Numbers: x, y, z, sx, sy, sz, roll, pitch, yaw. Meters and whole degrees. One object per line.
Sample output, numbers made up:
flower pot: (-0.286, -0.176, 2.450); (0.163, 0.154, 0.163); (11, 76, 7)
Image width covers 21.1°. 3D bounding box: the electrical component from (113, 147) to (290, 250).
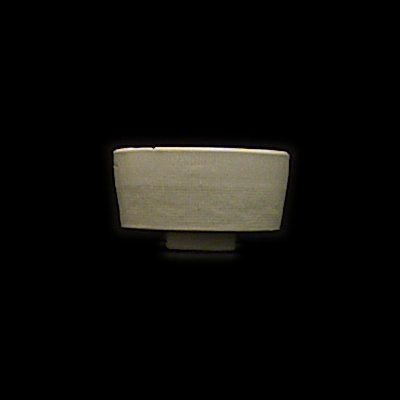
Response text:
electrical component: (0.000, 0.000, 0.660); (0.108, 0.060, 0.108); (1, 1, 1)
